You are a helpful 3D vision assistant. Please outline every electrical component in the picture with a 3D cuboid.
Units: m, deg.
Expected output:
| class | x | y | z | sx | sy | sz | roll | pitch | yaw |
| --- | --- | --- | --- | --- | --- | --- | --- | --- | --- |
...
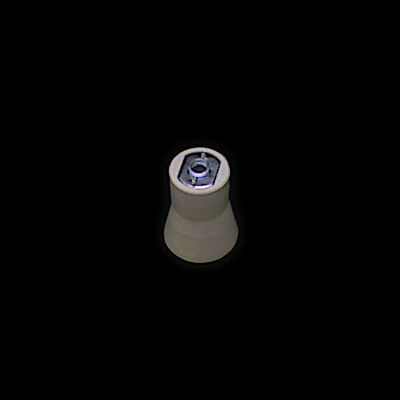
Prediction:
| class | x | y | z | sx | sy | sz | roll | pitch | yaw |
| --- | --- | --- | --- | --- | --- | --- | --- | --- | --- |
| electrical component | 0.000 | 0.000 | 0.627 | 0.044 | 0.044 | 0.065 | 0 | -38 | 1 |
